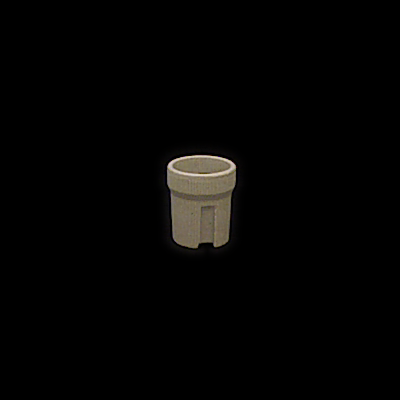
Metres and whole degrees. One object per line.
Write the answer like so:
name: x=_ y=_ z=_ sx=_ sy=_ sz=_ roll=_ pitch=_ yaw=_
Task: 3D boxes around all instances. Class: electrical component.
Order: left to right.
electrical component: x=0.000 y=0.000 z=0.642 sx=0.040 sy=0.047 sz=0.039 roll=1 pitch=21 yaw=0
